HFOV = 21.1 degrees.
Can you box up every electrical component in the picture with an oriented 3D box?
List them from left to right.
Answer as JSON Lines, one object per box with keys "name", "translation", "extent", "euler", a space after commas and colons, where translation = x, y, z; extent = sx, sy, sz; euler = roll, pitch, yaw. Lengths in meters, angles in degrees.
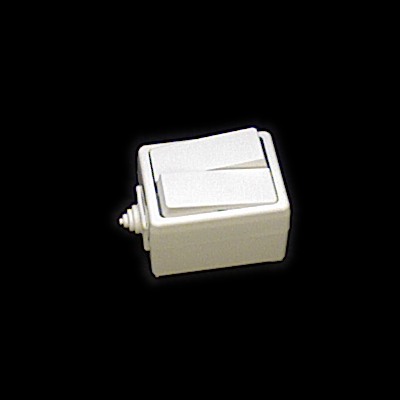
{"name": "electrical component", "translation": [0.000, 0.000, 0.628], "extent": [0.096, 0.061, 0.061], "euler": [-7, -38, -6]}
